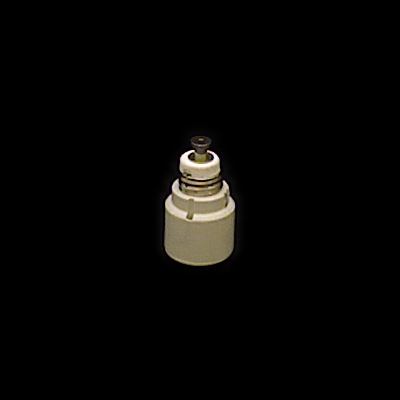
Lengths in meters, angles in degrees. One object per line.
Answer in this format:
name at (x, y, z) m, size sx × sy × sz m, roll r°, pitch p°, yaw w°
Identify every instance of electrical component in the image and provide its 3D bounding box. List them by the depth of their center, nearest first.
electrical component at (0.000, 0.000, 0.628) m, size 0.040 × 0.079 × 0.039 m, roll 1°, pitch 30°, yaw 0°
